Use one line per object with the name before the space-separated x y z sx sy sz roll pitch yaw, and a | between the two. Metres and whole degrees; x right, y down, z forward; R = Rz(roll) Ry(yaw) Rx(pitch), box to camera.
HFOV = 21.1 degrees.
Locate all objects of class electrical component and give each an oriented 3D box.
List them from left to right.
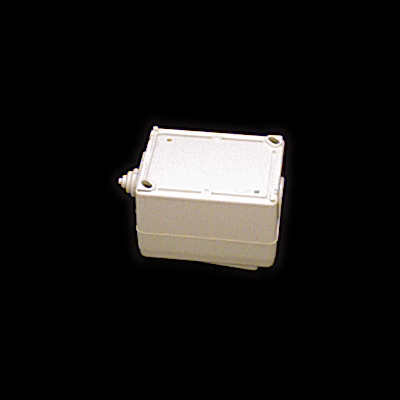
electrical component | 0.000 0.000 0.633 0.096 0.061 0.061 5 42 5
